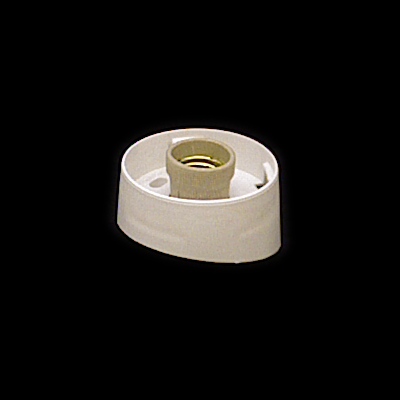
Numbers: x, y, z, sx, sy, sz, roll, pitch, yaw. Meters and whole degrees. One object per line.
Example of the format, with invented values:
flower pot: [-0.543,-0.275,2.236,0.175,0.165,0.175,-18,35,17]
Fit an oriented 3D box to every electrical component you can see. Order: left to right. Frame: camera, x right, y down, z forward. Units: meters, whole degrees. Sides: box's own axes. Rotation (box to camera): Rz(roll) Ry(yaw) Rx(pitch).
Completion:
electrical component: [0.000,0.000,0.633,0.099,0.065,0.097,1,31,0]
